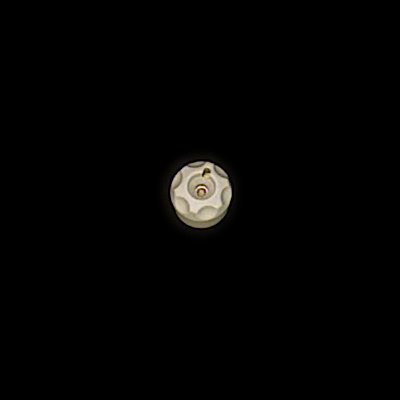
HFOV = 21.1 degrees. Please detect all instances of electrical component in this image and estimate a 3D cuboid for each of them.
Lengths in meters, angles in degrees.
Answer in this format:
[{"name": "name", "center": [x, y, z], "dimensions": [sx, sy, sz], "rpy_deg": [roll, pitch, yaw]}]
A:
[{"name": "electrical component", "center": [0.000, 0.000, 0.634], "dimensions": [0.035, 0.035, 0.061], "rpy_deg": [0, -16, 1]}]
